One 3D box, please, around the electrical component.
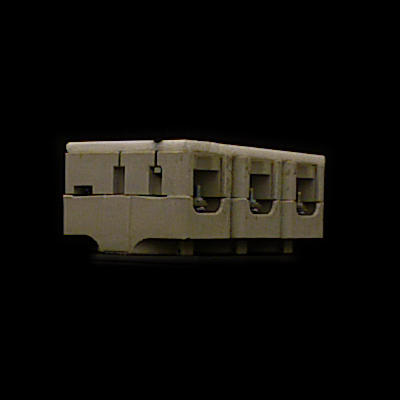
[{"bbox_3d":[0.000,0.000,0.653,0.089,0.062,0.150,1,-1,37],"label":"electrical component"}]
